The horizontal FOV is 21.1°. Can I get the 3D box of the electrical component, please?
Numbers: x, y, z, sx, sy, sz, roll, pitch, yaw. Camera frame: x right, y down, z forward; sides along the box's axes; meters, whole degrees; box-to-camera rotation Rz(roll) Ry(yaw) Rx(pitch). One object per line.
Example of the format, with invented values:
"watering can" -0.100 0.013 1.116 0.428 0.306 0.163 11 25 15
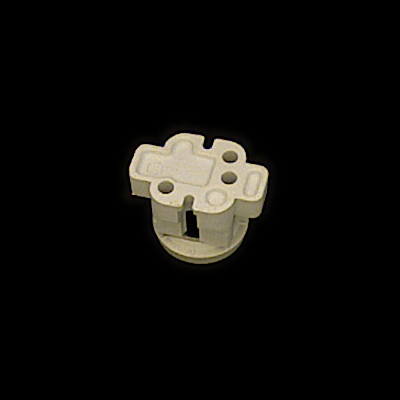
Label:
"electrical component" 0.000 0.000 0.636 0.078 0.058 0.057 10 -36 9
